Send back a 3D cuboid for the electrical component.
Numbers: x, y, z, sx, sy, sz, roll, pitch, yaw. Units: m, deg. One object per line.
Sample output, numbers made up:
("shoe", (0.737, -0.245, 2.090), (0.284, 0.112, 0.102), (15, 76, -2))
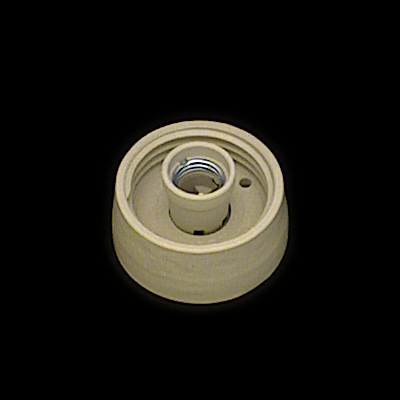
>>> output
("electrical component", (0.000, 0.000, 0.635), (0.108, 0.107, 0.060), (0, -37, 0))
